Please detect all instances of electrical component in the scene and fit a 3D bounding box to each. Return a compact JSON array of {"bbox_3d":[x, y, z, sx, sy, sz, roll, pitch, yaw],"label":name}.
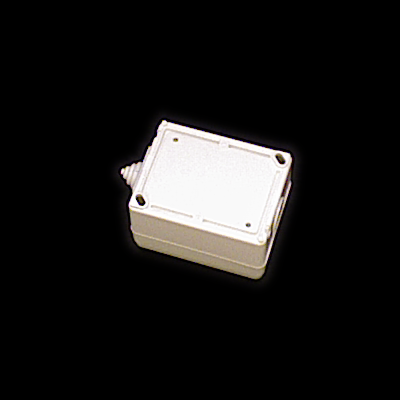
[{"bbox_3d":[0.000,0.000,0.629,0.096,0.062,0.061,15,-26,8],"label":"electrical component"}]
